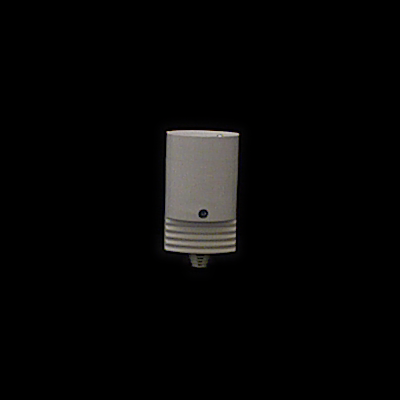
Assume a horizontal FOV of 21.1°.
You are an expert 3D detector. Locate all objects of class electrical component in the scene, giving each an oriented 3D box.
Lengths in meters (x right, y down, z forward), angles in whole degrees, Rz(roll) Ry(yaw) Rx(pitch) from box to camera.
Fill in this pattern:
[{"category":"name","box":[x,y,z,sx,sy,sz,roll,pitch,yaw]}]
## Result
[{"category":"electrical component","box":[0.000,0.000,0.644,0.043,0.082,0.042,2,12,0]}]
